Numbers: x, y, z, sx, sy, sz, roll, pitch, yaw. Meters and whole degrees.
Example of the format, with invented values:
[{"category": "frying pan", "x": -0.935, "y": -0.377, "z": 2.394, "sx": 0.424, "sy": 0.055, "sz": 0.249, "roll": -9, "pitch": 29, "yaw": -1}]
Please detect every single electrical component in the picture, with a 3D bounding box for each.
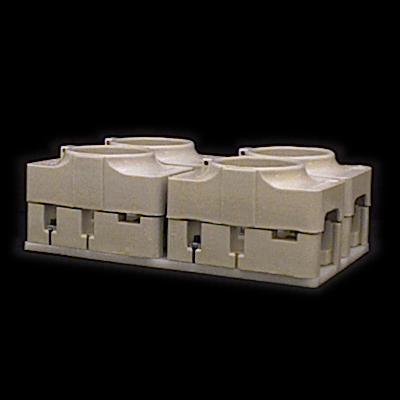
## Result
[{"category": "electrical component", "x": 0.000, "y": 0.000, "z": 0.643, "sx": 0.185, "sy": 0.060, "sz": 0.105, "roll": 5, "pitch": 11, "yaw": 24}]
